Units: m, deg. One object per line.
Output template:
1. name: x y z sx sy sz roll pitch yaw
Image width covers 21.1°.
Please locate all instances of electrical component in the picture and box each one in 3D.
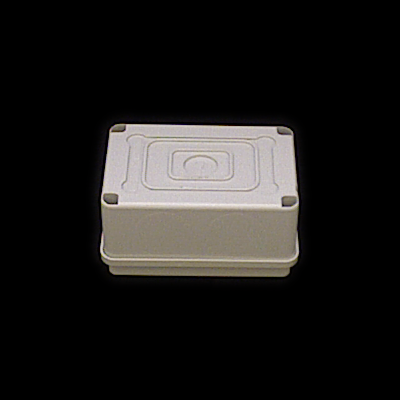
1. electrical component: 0.000 0.000 0.631 0.113 0.057 0.077 1 42 0
